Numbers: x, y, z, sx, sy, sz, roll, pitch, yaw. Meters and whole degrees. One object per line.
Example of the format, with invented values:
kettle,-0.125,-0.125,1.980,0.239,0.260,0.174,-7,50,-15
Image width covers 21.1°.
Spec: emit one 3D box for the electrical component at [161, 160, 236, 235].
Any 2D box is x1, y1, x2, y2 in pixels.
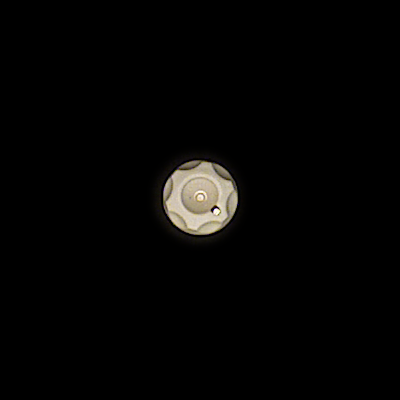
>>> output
electrical component,0.000,0.000,0.635,0.043,0.043,0.062,0,-5,2
